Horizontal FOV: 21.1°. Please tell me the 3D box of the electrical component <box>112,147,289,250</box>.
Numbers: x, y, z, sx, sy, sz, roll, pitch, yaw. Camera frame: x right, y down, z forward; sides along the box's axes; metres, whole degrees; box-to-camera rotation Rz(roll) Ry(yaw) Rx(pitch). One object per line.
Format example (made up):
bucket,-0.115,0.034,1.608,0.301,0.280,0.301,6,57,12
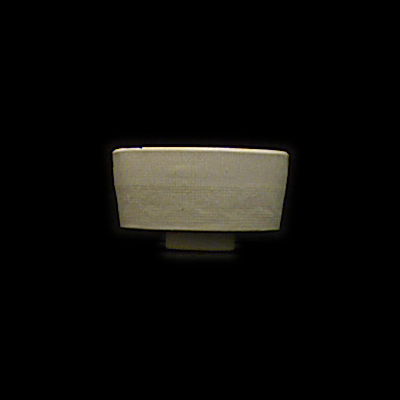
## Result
electrical component,0.000,0.000,0.660,0.108,0.060,0.108,1,1,1
